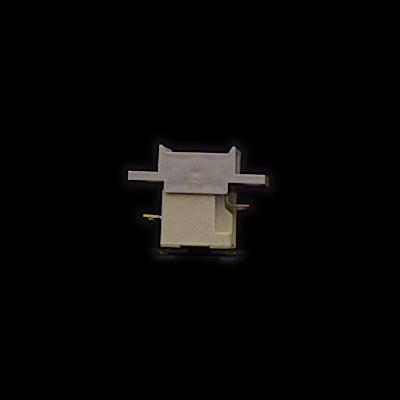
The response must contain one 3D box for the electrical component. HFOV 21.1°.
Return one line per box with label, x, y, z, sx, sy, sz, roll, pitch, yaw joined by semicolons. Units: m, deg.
electrical component;0.000;0.000;0.649;0.081;0.064;0.042;2;2;6
